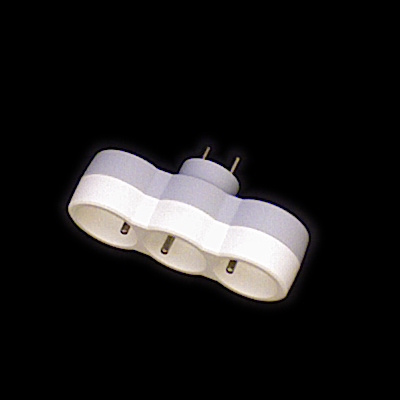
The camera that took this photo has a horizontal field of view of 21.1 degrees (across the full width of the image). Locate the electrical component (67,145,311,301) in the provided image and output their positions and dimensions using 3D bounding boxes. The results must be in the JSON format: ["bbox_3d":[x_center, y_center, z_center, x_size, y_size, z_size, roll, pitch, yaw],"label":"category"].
[{"bbox_3d":[0.000,0.000,0.631,0.138,0.074,0.052,20,-27,10],"label":"electrical component"}]
